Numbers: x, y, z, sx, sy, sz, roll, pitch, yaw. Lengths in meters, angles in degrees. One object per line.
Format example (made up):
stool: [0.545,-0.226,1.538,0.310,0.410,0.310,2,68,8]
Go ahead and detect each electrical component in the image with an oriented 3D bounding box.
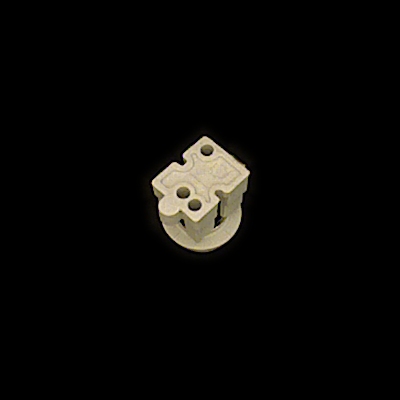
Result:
electrical component: [0.000,0.000,0.636,0.048,0.067,0.055,41,-21,20]
